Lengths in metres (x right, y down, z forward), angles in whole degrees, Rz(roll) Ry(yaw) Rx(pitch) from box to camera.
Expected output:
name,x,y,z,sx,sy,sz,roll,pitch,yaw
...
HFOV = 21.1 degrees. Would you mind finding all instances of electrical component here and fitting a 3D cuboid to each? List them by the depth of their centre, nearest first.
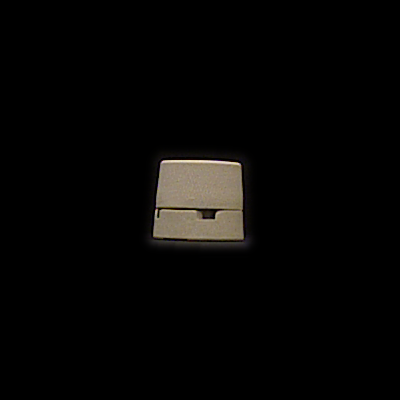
name,x,y,z,sx,sy,sz,roll,pitch,yaw
electrical component,0.000,0.000,0.651,0.055,0.047,0.055,2,0,0
